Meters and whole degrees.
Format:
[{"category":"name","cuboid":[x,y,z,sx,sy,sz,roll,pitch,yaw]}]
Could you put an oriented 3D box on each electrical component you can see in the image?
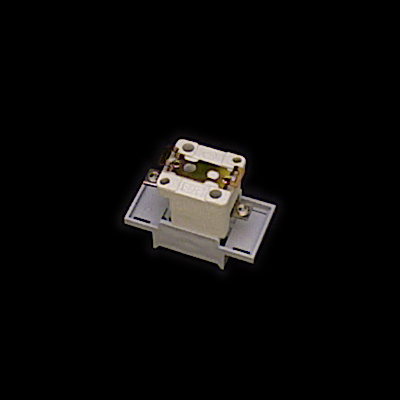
[{"category":"electrical component","cuboid":[0.000,0.000,0.628,0.081,0.042,0.064,16,-36,12]}]
